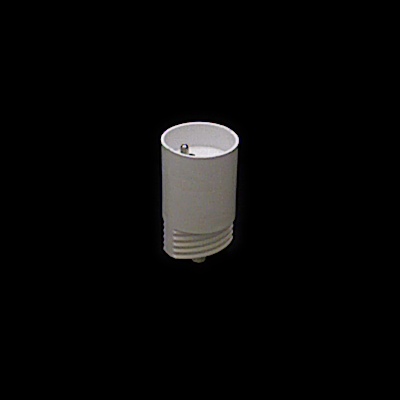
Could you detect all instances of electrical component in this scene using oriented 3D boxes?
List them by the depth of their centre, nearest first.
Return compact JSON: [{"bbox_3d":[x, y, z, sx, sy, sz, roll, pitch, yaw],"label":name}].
[{"bbox_3d":[0.000,0.000,0.625,0.043,0.082,0.042,0,31,0],"label":"electrical component"}]
